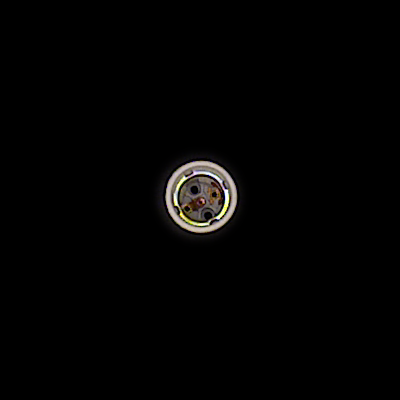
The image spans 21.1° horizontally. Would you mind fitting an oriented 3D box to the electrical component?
[{"bbox_3d":[0.000,0.000,0.627,0.040,0.040,0.046,0,-6,0],"label":"electrical component"}]
